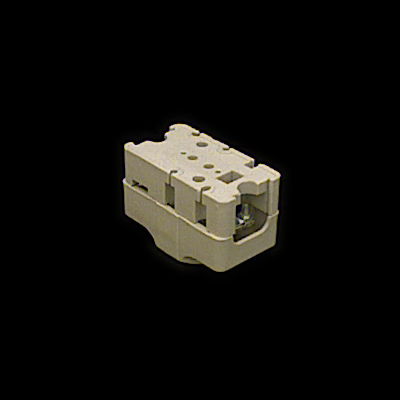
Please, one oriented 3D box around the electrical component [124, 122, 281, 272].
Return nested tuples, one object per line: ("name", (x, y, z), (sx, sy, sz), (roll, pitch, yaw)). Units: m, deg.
("electrical component", (0.000, 0.000, 0.643), (0.050, 0.056, 0.088), (-25, 41, -36))
